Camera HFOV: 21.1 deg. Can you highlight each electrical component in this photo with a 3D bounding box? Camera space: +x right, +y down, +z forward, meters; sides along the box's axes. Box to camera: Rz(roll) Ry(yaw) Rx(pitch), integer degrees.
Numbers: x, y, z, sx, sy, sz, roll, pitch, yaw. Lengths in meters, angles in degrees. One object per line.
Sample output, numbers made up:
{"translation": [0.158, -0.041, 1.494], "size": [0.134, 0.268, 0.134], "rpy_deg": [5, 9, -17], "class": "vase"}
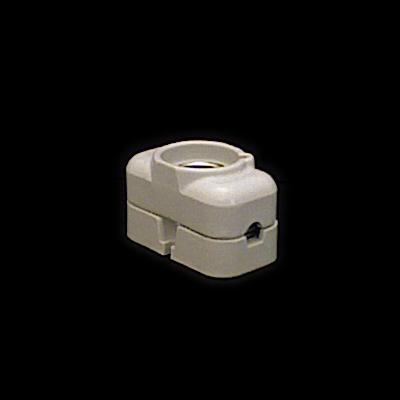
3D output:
{"translation": [0.000, 0.000, 0.647], "size": [0.054, 0.060, 0.094], "rpy_deg": [-19, 29, -39], "class": "electrical component"}
